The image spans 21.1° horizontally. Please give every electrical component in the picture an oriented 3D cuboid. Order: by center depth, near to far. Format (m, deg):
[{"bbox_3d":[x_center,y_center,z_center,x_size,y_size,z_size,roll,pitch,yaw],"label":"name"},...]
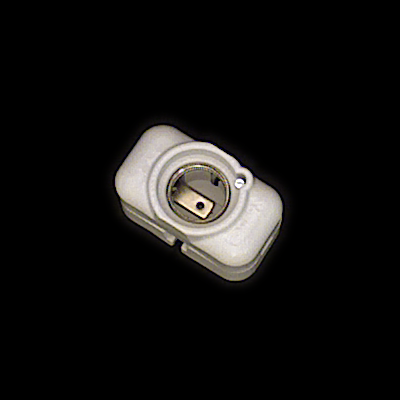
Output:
[{"bbox_3d":[0.000,0.000,0.634,0.095,0.054,0.059,31,-13,8],"label":"electrical component"}]
